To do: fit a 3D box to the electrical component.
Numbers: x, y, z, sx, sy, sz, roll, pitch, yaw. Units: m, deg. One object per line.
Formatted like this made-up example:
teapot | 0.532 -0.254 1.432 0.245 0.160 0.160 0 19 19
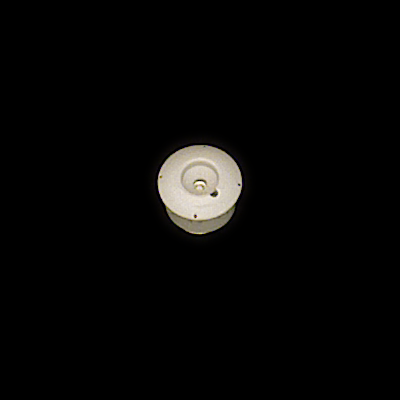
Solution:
electrical component | 0.000 0.000 0.634 0.048 0.048 0.062 0 -27 0
